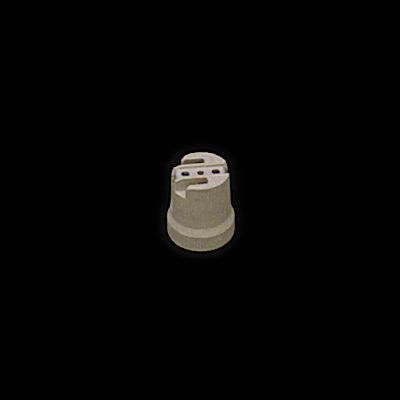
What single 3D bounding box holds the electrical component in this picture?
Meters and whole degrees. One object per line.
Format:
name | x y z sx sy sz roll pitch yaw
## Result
electrical component | 0.000 0.000 0.636 0.040 0.046 0.040 1 42 0
